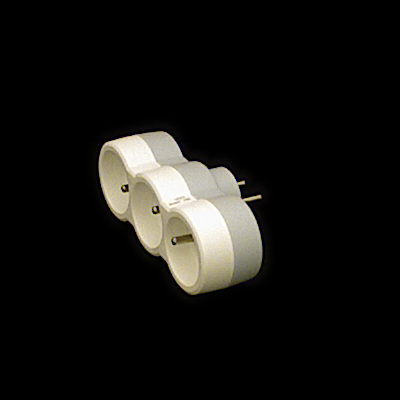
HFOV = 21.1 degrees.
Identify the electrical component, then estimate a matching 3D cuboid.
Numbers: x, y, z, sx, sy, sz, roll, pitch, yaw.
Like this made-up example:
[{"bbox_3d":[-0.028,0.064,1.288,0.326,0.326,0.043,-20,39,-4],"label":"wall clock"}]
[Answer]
[{"bbox_3d":[0.000,0.000,0.644,0.074,0.053,0.136,-15,35,-26],"label":"electrical component"}]
